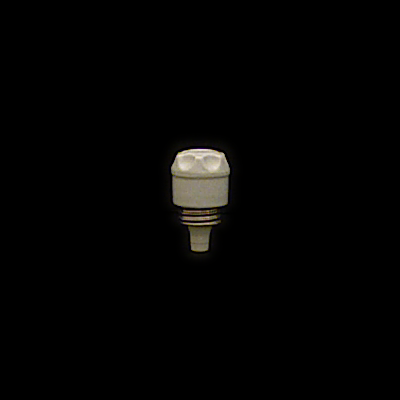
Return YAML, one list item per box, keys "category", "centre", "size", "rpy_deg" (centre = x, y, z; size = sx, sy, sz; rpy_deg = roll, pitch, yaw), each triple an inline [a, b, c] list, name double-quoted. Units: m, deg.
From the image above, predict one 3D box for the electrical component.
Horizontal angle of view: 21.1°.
- category: "electrical component"
  centre: [0.000, 0.000, 0.651]
  size: [0.035, 0.062, 0.035]
  rpy_deg: [1, 12, 0]
